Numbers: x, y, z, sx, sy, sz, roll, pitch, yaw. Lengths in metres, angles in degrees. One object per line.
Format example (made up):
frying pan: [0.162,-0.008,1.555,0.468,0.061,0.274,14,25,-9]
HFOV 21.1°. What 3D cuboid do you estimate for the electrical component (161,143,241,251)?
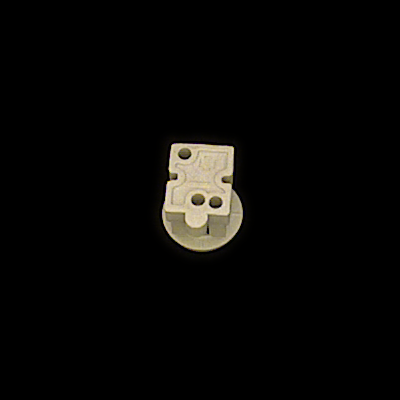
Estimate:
electrical component: [0.000,0.000,0.637,0.048,0.066,0.055,4,-27,3]
